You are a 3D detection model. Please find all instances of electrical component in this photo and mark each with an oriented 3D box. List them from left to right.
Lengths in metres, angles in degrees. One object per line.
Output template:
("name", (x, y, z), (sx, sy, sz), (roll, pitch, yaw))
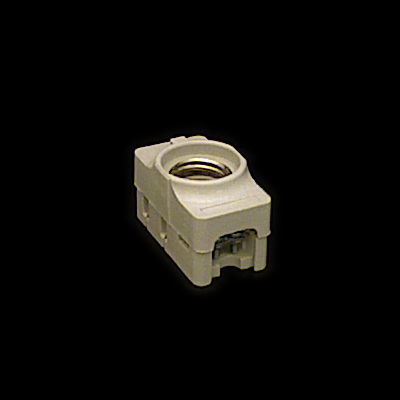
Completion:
("electrical component", (0.000, 0.000, 0.643), (0.050, 0.056, 0.088), (-15, 36, -24))
